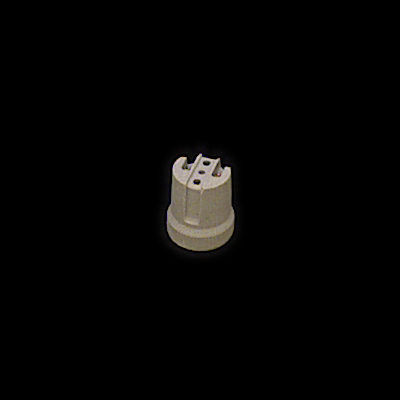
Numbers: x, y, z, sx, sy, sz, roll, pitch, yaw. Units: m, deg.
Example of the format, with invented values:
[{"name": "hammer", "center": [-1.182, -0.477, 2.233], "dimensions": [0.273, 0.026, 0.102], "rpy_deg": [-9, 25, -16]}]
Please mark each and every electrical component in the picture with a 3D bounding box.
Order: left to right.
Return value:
[{"name": "electrical component", "center": [0.000, 0.000, 0.636], "dimensions": [0.040, 0.046, 0.040], "rpy_deg": [1, 43, 0]}]
